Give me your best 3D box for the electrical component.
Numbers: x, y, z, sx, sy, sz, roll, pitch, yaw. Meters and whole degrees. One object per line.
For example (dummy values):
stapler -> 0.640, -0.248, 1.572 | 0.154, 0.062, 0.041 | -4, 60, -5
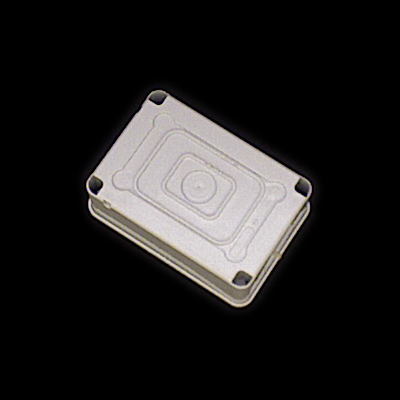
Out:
electrical component -> 0.000, 0.000, 0.628 | 0.113, 0.078, 0.057 | 32, -14, 8
